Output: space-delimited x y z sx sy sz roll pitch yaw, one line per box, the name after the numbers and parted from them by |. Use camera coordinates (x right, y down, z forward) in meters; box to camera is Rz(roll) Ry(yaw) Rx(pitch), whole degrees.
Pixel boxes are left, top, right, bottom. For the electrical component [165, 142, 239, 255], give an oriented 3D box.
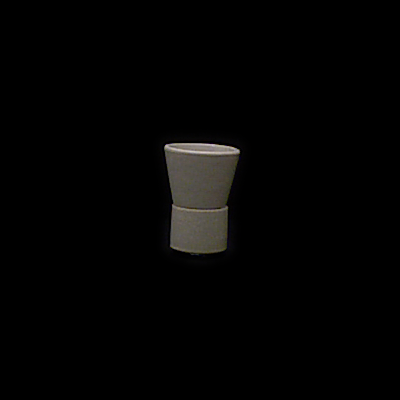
0.000 0.000 0.645 0.044 0.066 0.044 2 11 0 | electrical component
